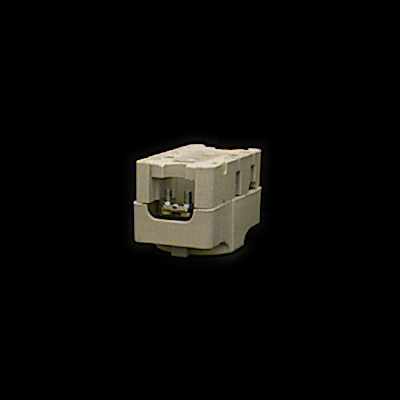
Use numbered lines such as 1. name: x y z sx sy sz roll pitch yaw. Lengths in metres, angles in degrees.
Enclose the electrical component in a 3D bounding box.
1. electrical component: 0.000 0.000 0.651 0.050 0.056 0.089 6 13 21
